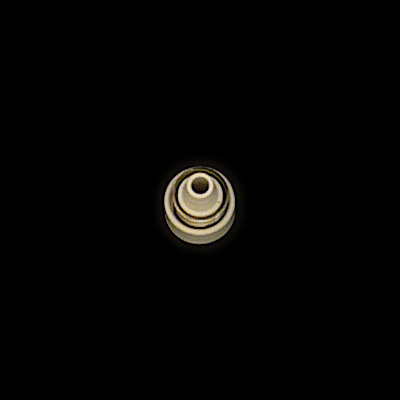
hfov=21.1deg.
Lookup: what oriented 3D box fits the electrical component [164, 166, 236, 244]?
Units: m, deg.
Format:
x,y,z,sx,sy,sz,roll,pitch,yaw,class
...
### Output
x,y,z,sx,sy,sz,roll,pitch,yaw,class
0.000,0.000,0.634,0.043,0.043,0.061,0,-17,-1,electrical component
